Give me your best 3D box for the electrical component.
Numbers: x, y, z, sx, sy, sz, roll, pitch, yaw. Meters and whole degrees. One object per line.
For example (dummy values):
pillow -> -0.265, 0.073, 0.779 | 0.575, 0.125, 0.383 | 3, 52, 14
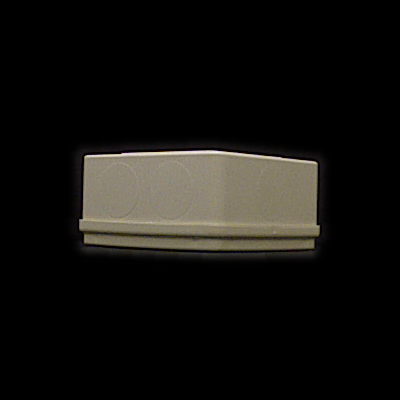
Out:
electrical component -> 0.000, 0.000, 0.652 | 0.108, 0.056, 0.109 | 1, -1, 39
